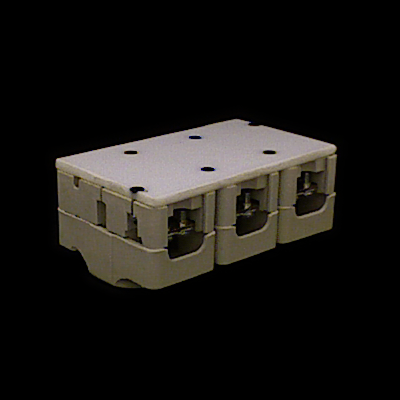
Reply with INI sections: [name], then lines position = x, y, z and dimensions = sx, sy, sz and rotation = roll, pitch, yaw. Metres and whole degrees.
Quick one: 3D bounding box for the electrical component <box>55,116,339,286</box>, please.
[electrical component]
position = 0.000, 0.000, 0.649
dimensions = 0.149, 0.063, 0.088
rotation = -16, 27, -40
